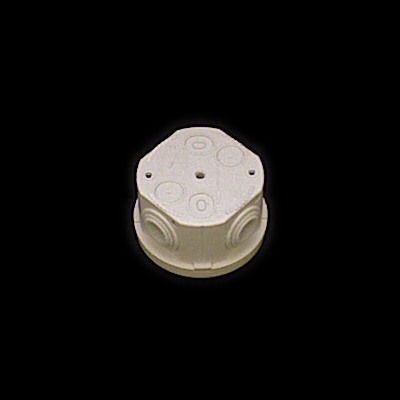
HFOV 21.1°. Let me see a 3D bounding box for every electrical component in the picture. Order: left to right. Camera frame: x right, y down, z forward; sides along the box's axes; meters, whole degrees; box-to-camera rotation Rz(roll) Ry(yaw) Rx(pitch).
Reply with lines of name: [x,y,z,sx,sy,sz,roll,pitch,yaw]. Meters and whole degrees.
electrical component: [0.000,0.000,0.632,0.080,0.080,0.051,0,-37,0]
